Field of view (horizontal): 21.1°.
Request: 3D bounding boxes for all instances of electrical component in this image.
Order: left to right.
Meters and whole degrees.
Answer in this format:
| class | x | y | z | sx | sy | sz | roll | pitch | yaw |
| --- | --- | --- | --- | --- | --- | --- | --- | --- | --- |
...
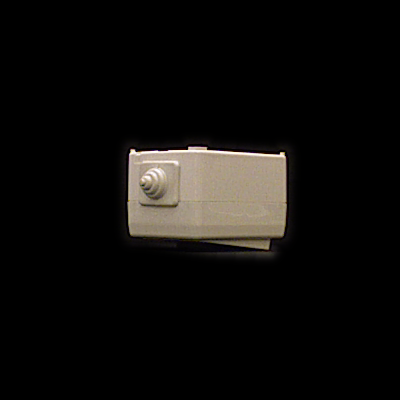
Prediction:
| class | x | y | z | sx | sy | sz | roll | pitch | yaw |
| --- | --- | --- | --- | --- | --- | --- | --- | --- | --- |
| electrical component | 0.000 | 0.000 | 0.651 | 0.061 | 0.061 | 0.096 | 2 | 1 | 44 |
